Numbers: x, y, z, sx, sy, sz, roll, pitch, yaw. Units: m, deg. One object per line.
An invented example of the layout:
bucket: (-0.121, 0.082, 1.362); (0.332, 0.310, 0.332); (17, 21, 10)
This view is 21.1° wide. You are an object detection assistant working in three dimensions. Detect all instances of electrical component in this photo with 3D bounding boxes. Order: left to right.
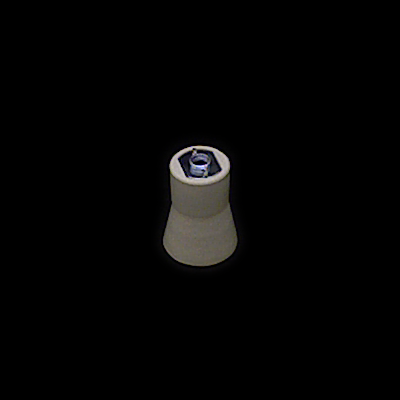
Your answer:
electrical component: (0.000, 0.000, 0.629); (0.044, 0.066, 0.044); (0, 42, 0)
